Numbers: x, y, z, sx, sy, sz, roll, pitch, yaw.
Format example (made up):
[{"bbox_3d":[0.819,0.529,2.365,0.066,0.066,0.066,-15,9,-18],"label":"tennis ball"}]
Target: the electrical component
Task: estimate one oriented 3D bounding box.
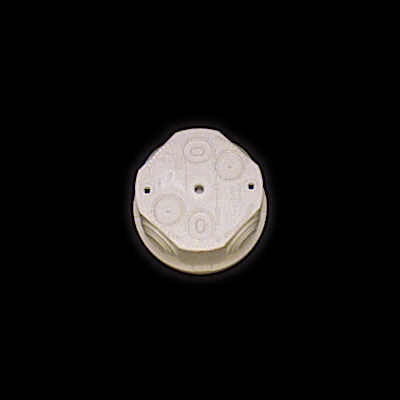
[{"bbox_3d":[0.000,0.000,0.632,0.080,0.080,0.050,0,-17,1],"label":"electrical component"}]
